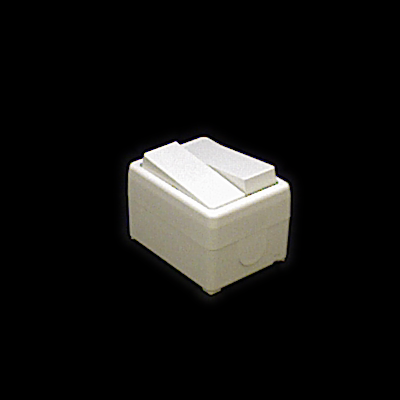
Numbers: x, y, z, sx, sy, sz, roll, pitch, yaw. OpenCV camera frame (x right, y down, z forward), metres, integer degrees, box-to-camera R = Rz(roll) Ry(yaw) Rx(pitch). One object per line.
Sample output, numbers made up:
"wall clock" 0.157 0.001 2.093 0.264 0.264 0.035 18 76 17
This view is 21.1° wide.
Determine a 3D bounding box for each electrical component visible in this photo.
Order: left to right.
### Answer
"electrical component" 0.000 0.000 0.636 0.061 0.061 0.095 -22 38 -33
